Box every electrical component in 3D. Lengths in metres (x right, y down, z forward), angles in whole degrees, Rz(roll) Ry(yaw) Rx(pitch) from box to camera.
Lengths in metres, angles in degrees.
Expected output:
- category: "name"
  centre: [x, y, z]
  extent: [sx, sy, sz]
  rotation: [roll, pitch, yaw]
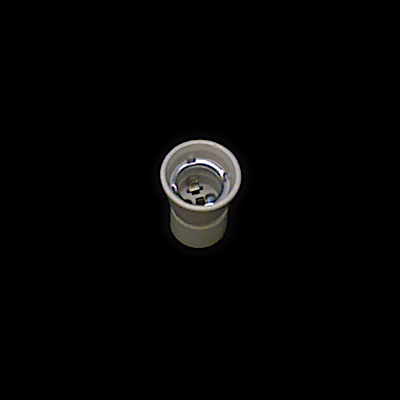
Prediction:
- category: "electrical component"
  centre: [0.000, 0.000, 0.625]
  extent: [0.044, 0.044, 0.065]
  rotation: [0, -28, -1]
